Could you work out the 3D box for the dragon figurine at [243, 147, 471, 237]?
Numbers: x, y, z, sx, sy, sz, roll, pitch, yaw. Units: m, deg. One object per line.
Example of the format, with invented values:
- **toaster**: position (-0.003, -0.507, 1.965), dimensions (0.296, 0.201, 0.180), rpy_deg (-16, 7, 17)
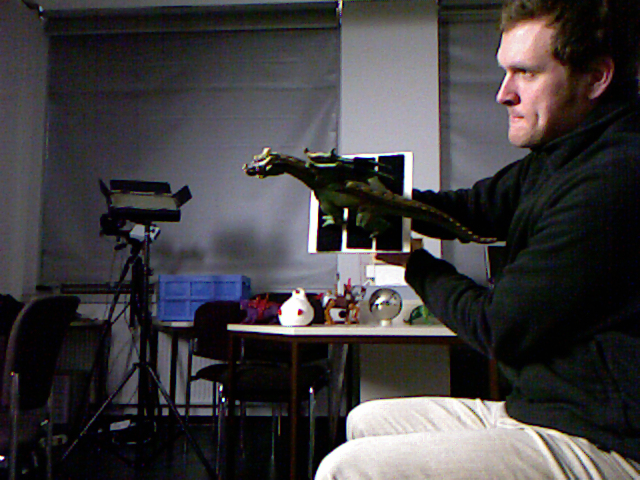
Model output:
- **dragon figurine**: position (0.068, -0.092, 0.907), dimensions (0.413, 0.124, 0.242), rpy_deg (12, -8, 13)
